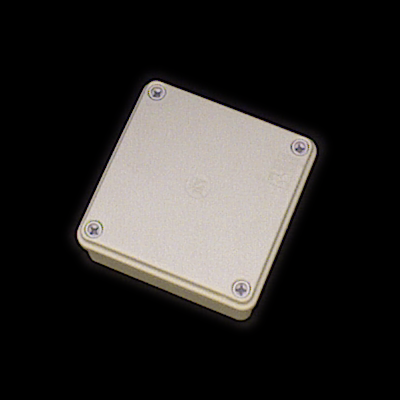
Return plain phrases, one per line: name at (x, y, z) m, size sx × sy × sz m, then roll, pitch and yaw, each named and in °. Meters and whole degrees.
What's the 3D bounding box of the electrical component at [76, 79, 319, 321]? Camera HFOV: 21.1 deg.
electrical component at (0.000, 0.000, 0.629) m, size 0.109 × 0.109 × 0.056 m, roll 22°, pitch -16°, yaw 7°
